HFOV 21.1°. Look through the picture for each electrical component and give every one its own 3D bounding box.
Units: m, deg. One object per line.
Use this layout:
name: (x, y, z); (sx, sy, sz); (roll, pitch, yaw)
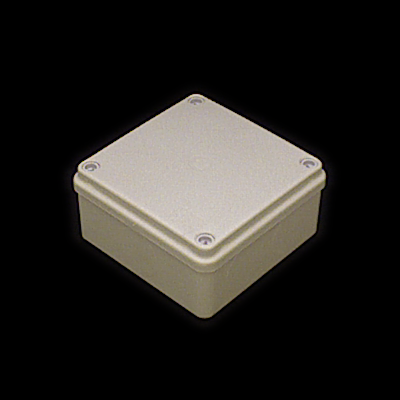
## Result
electrical component: (0.000, 0.000, 0.634); (0.108, 0.057, 0.108); (32, 50, 30)
